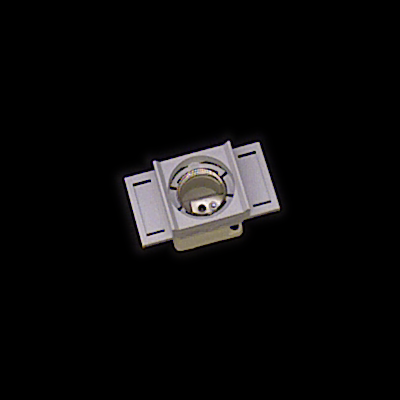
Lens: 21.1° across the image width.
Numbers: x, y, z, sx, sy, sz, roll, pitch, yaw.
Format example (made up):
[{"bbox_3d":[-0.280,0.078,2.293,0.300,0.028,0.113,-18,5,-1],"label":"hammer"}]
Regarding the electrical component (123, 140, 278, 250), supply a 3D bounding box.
[{"bbox_3d":[0.000,0.000,0.624,0.081,0.042,0.063,-15,-17,-4],"label":"electrical component"}]
